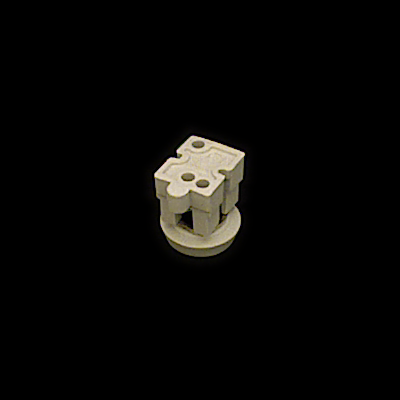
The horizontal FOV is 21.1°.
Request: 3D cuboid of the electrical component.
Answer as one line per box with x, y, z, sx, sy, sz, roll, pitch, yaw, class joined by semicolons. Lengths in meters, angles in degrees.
0.000;0.000;0.639;0.048;0.056;0.066;20;45;22;electrical component
